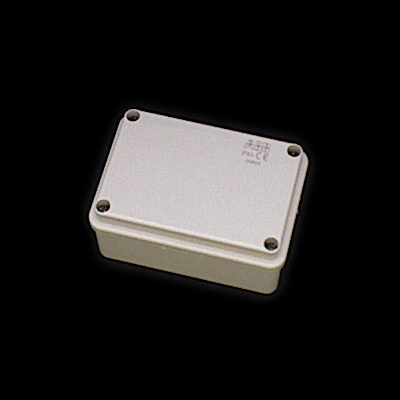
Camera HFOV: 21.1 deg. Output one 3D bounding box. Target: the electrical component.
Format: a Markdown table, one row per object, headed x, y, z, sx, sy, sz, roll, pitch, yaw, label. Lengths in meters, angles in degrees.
| x | y | z | sx | sy | sz | roll | pitch | yaw | label |
| --- | --- | --- | --- | --- | --- | --- | --- | --- | --- |
| 0.000 | 0.000 | 0.628 | 0.113 | 0.078 | 0.057 | 12 | -26 | 6 | electrical component |
